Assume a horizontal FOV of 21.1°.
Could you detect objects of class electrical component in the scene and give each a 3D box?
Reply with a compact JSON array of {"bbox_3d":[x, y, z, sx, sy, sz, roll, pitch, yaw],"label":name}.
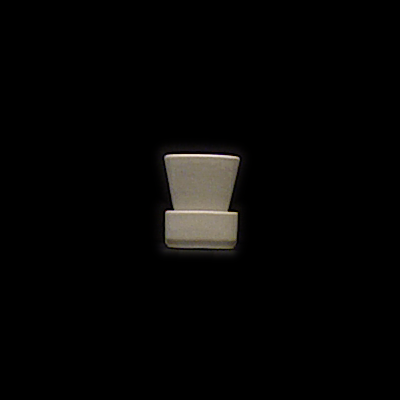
[{"bbox_3d":[0.000,0.000,0.650,0.045,0.055,0.045,2,0,0],"label":"electrical component"}]
